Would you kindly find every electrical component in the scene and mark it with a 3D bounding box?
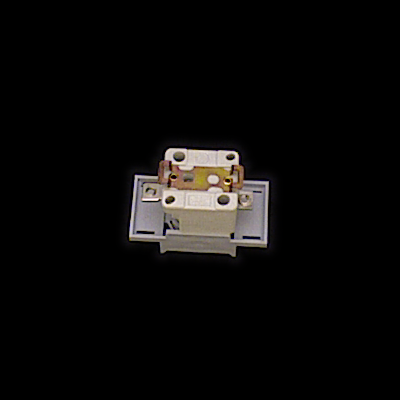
[{"bbox_3d":[0.000,0.000,0.626,0.081,0.042,0.063,2,-27,1],"label":"electrical component"}]
